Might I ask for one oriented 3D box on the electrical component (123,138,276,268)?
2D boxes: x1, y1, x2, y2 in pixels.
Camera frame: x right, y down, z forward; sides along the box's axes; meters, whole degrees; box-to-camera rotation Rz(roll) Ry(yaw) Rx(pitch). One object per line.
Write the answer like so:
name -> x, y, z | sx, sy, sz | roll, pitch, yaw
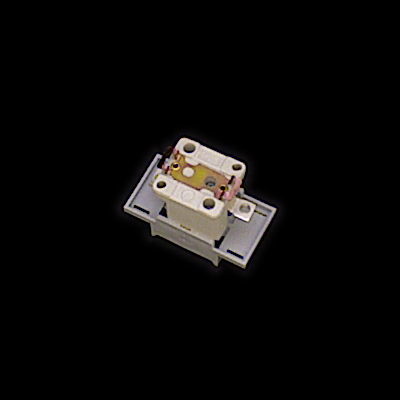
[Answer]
electrical component -> 0.000, 0.000, 0.625 | 0.081, 0.042, 0.063 | 25, -24, 12
